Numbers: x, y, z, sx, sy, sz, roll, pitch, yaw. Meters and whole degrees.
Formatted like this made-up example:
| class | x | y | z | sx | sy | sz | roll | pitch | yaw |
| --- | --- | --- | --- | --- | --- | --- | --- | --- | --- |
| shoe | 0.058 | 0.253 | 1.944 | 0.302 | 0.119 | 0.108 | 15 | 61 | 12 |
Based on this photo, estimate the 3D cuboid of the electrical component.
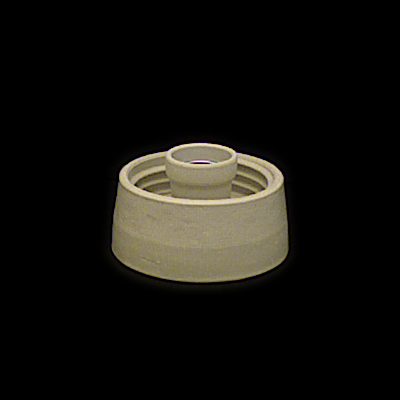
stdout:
| class | x | y | z | sx | sy | sz | roll | pitch | yaw |
| --- | --- | --- | --- | --- | --- | --- | --- | --- | --- |
| electrical component | 0.000 | 0.000 | 0.647 | 0.108 | 0.061 | 0.106 | 1 | 21 | 0 |
